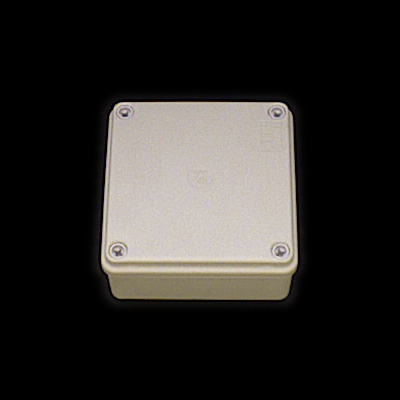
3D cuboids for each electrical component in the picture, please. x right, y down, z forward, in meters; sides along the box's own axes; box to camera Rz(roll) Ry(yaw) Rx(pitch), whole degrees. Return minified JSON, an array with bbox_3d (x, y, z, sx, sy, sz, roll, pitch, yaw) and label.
[{"bbox_3d":[0.000,0.000,0.629,0.109,0.109,0.056,0,-28,1],"label":"electrical component"}]
